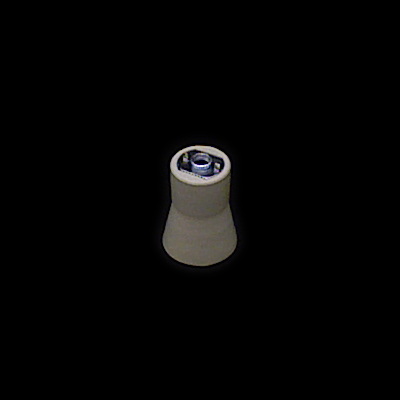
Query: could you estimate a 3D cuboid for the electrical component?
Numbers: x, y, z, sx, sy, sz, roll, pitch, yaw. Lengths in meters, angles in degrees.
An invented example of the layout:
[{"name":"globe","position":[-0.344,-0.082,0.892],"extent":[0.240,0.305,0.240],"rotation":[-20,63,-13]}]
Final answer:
[{"name":"electrical component","position":[0.000,0.000,0.628],"extent":[0.044,0.066,0.044],"rotation":[0,43,0]}]
